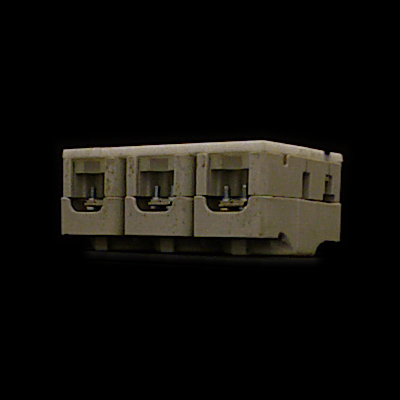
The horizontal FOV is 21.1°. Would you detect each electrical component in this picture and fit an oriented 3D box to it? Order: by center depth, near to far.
[{"bbox_3d":[0.000,0.000,0.656,0.149,0.062,0.090,0,-1,37],"label":"electrical component"}]
